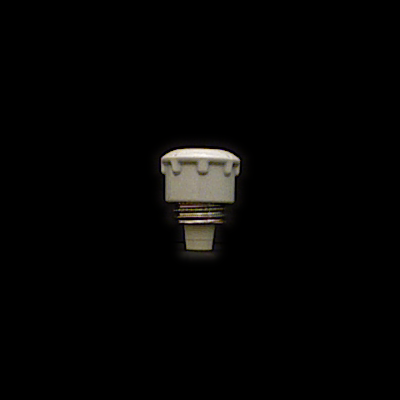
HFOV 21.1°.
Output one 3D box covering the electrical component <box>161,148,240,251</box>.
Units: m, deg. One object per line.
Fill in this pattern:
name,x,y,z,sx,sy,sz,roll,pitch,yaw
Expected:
electrical component,0.000,0.000,0.654,0.048,0.062,0.048,1,1,0
